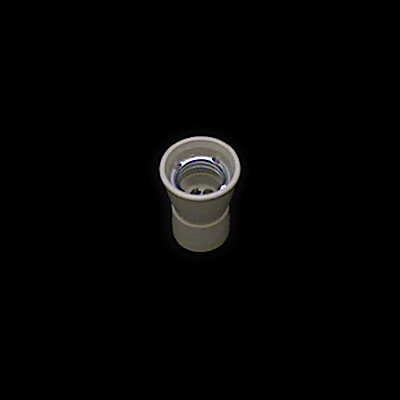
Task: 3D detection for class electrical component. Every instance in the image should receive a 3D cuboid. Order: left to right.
[{"bbox_3d":[0.000,0.000,0.625,0.044,0.044,0.065,0,-36,0],"label":"electrical component"}]
